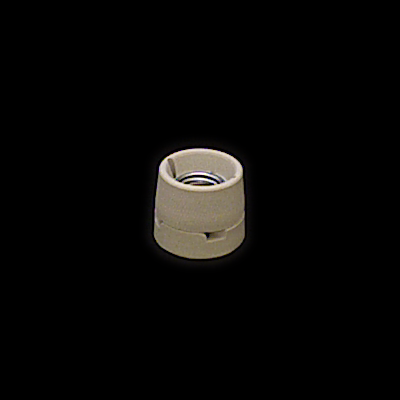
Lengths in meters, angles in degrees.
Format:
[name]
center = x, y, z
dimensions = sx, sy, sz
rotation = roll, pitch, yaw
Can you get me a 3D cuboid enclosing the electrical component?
[electrical component]
center = 0.000, 0.000, 0.637
dimensions = 0.055, 0.047, 0.055
rotation = 1, 32, -1
